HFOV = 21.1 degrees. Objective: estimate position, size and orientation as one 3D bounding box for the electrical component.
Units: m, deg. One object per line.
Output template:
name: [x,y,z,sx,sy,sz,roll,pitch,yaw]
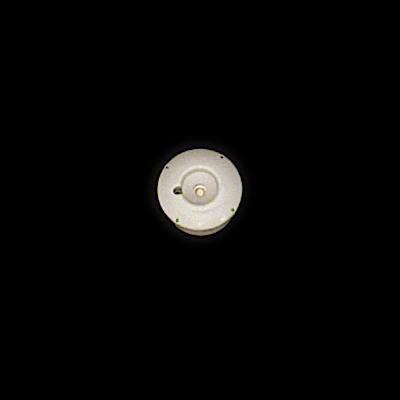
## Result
electrical component: [0.000,0.000,0.632,0.048,0.048,0.061,0,-16,1]
